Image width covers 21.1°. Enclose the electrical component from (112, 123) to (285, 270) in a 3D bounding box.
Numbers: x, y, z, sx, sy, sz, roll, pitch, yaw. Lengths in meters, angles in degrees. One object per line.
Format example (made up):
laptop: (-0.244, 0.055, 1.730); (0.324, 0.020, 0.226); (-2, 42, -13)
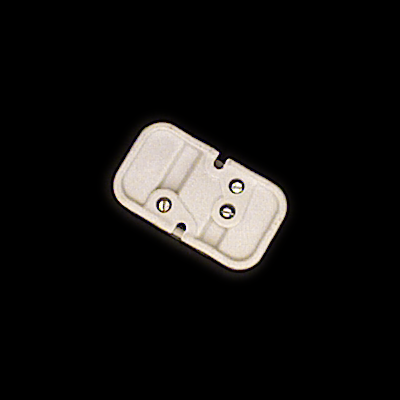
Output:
electrical component: (0.000, 0.000, 0.637); (0.095, 0.054, 0.059); (30, -4, 4)
